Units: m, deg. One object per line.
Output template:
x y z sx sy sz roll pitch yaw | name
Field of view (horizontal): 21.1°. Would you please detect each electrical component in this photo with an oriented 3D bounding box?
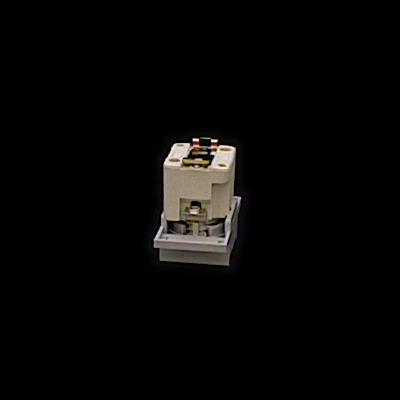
0.000 0.000 0.638 0.042 0.064 0.080 4 21 6 | electrical component
